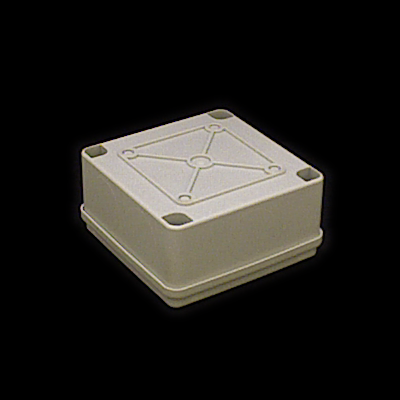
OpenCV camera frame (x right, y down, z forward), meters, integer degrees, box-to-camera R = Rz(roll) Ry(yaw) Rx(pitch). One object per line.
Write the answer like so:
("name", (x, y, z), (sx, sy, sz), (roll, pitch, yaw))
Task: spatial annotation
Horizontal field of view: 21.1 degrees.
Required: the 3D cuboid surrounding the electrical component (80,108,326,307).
("electrical component", (0.000, 0.000, 0.632), (0.108, 0.057, 0.107), (-19, 37, -28))
